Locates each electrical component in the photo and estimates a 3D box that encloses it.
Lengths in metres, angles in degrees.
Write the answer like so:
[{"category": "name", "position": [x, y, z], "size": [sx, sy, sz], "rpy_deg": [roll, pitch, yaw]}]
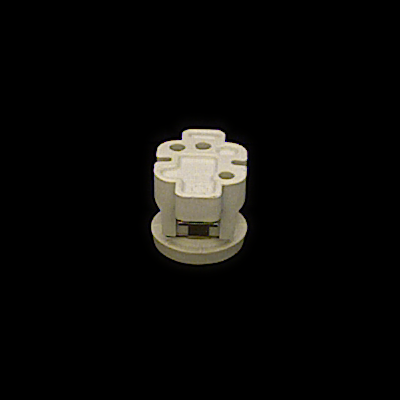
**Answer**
[{"category": "electrical component", "position": [0.000, 0.000, 0.641], "size": [0.058, 0.057, 0.077], "rpy_deg": [2, 34, 0]}]
